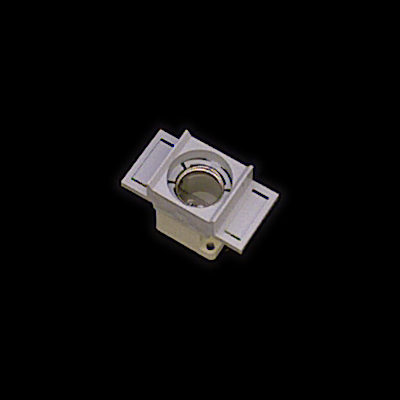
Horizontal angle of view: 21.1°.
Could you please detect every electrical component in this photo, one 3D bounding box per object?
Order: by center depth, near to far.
[{"bbox_3d":[0.000,0.000,0.624,0.080,0.042,0.063,30,-22,13],"label":"electrical component"}]
